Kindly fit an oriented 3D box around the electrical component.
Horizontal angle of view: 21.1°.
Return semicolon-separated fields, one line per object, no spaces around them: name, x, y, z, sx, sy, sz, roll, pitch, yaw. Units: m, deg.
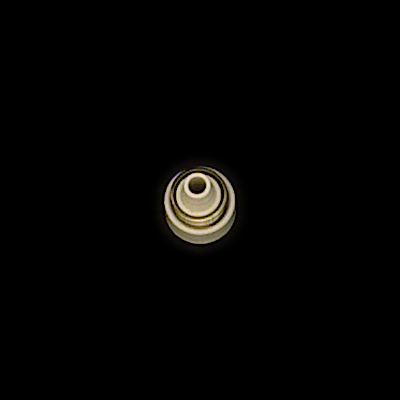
electrical component;0.000;0.000;0.634;0.043;0.043;0.061;0;-17;1
